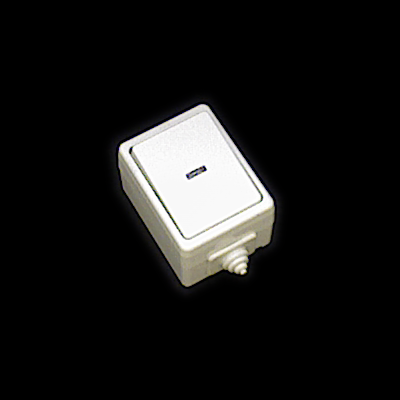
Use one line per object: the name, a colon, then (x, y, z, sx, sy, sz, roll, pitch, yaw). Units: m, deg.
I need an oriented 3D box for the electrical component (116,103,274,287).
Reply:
electrical component: (0.000, 0.000, 0.625, 0.062, 0.096, 0.060, -28, -24, -13)
